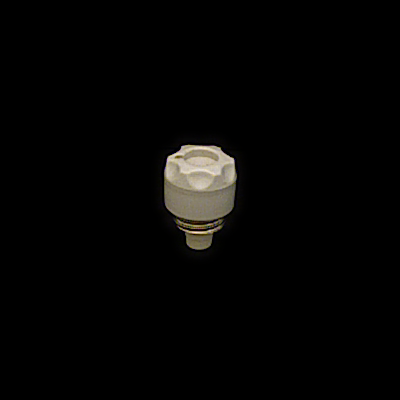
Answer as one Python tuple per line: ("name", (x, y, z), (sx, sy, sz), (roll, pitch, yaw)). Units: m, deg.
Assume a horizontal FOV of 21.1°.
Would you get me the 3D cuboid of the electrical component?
("electrical component", (0.000, 0.000, 0.642), (0.043, 0.063, 0.043), (1, 32, 0))
